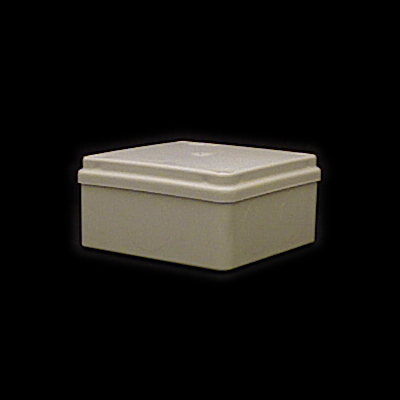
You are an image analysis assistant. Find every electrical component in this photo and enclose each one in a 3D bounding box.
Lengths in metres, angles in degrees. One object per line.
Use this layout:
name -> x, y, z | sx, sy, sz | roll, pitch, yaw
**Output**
electrical component -> 0.000, 0.000, 0.643 | 0.108, 0.056, 0.108 | 8, 13, 34
